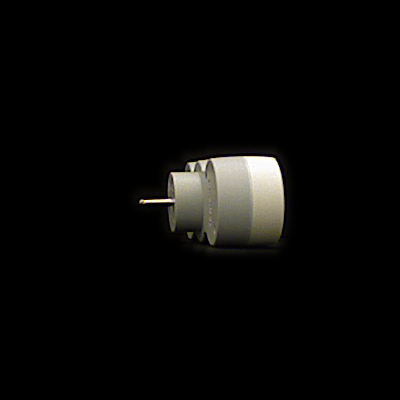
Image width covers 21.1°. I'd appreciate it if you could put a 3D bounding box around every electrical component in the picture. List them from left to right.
[{"bbox_3d":[0.000,0.000,0.657,0.074,0.052,0.137,0,1,-9],"label":"electrical component"}]
